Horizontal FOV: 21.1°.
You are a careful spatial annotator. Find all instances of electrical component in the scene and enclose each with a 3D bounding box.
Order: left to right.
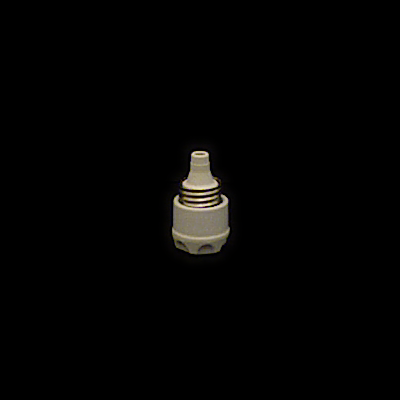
[{"bbox_3d":[0.000,0.000,0.650,0.035,0.062,0.034,-1,22,1],"label":"electrical component"}]
